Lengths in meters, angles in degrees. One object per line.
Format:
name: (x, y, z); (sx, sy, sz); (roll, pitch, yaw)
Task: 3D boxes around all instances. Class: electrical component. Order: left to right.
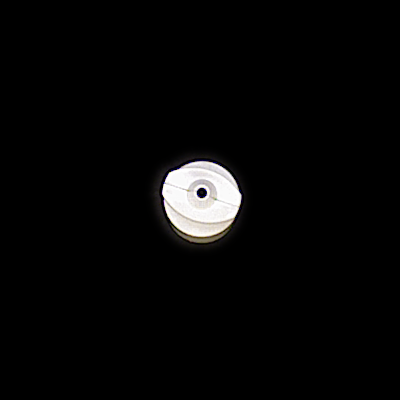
electrical component: (0.000, 0.000, 0.616); (0.043, 0.043, 0.080); (0, -6, 1)
